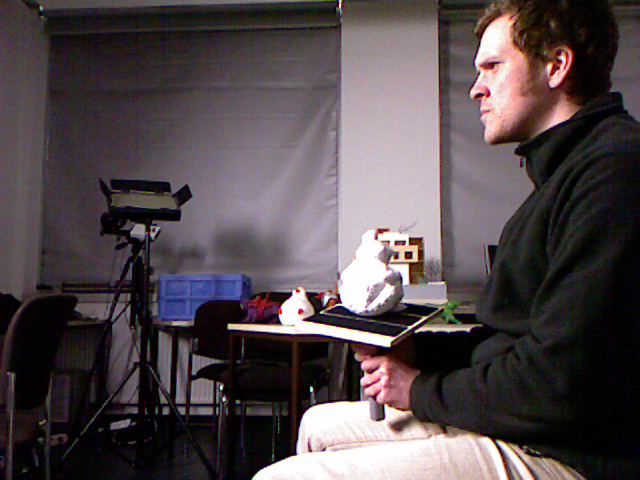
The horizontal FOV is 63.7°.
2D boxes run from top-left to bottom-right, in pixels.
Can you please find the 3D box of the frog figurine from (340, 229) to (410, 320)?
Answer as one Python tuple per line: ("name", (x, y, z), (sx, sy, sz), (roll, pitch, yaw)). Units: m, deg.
("frog figurine", (0.097, 0.064, 0.966), (0.123, 0.158, 0.138), (-13, 15, -30))
